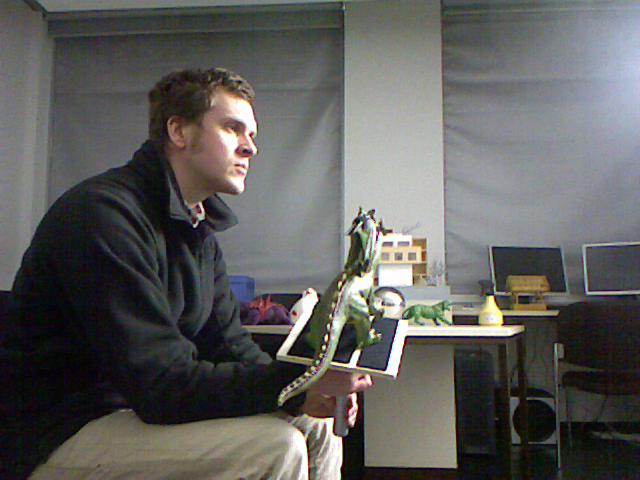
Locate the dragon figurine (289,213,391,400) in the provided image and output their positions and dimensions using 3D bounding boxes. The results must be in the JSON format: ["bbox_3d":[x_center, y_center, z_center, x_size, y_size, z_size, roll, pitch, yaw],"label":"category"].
[{"bbox_3d":[0.051,0.068,0.879,0.123,0.239,0.417,12,21,16],"label":"dragon figurine"}]
